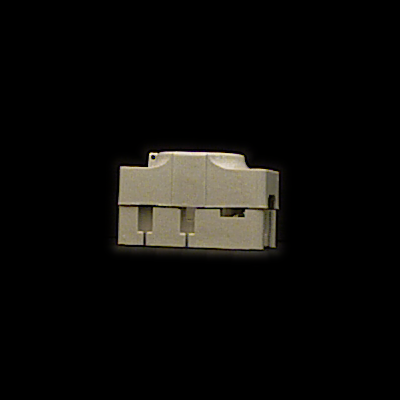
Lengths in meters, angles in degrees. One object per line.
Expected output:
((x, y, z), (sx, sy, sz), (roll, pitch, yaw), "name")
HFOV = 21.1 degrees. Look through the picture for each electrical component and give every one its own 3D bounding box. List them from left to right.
((0.000, 0.000, 0.657), (0.089, 0.056, 0.050), (2, 1, 14), "electrical component")
